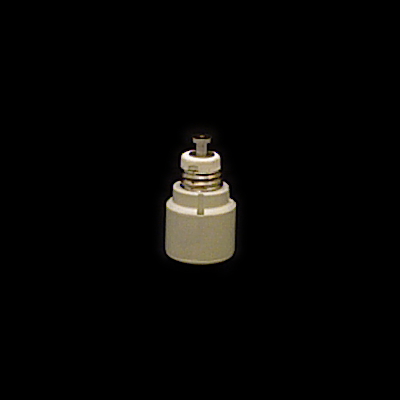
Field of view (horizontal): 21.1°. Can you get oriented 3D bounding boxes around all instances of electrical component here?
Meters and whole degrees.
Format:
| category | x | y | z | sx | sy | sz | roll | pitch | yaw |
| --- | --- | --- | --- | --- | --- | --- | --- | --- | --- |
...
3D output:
| category | x | y | z | sx | sy | sz | roll | pitch | yaw |
| --- | --- | --- | --- | --- | --- | --- | --- | --- | --- |
| electrical component | 0.000 | 0.000 | 0.634 | 0.040 | 0.079 | 0.039 | 1 | 20 | 0 |
